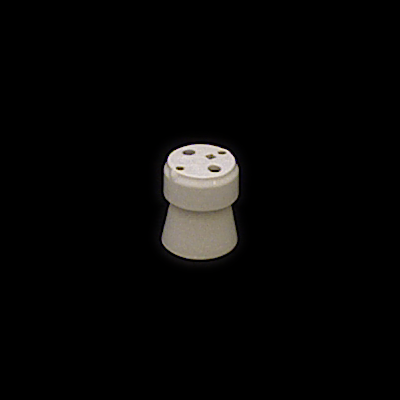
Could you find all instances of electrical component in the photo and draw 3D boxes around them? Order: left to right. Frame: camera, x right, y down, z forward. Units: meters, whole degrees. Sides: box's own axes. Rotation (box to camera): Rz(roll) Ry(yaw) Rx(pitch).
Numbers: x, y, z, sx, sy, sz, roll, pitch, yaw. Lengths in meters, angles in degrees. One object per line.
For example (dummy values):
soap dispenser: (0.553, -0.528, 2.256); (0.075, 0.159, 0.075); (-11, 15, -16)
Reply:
electrical component: (0.000, 0.000, 0.634); (0.045, 0.056, 0.044); (1, 33, 0)
